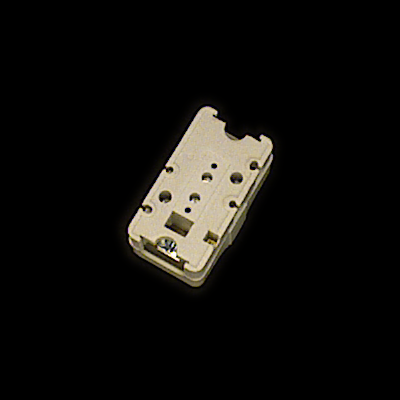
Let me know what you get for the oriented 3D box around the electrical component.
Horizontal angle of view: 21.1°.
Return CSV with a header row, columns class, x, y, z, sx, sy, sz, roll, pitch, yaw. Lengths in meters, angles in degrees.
class,x,y,z,sx,sy,sz,roll,pitch,yaw
electrical component,0.000,0.000,0.636,0.050,0.090,0.055,29,-14,8
